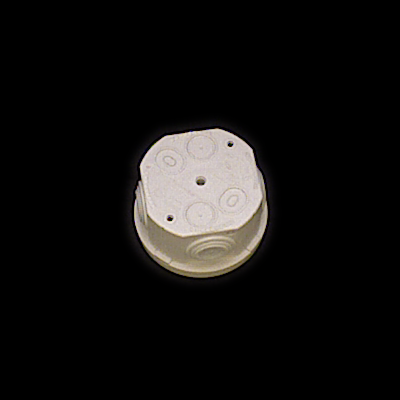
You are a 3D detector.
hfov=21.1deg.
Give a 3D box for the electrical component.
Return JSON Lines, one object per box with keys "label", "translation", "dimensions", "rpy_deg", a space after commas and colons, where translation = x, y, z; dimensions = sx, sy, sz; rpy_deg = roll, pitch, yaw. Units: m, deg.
{"label": "electrical component", "translation": [0.000, 0.000, 0.632], "dimensions": [0.080, 0.080, 0.050], "rpy_deg": [0, -28, 0]}
